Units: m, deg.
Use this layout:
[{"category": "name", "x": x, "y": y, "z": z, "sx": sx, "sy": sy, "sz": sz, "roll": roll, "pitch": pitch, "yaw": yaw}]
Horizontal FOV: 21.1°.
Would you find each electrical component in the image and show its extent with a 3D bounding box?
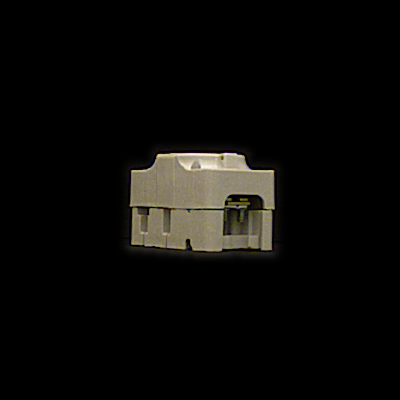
[{"category": "electrical component", "x": 0.000, "y": 0.000, "z": 0.656, "sx": 0.050, "sy": 0.056, "sz": 0.088, "roll": 0, "pitch": 1, "yaw": -36}]
